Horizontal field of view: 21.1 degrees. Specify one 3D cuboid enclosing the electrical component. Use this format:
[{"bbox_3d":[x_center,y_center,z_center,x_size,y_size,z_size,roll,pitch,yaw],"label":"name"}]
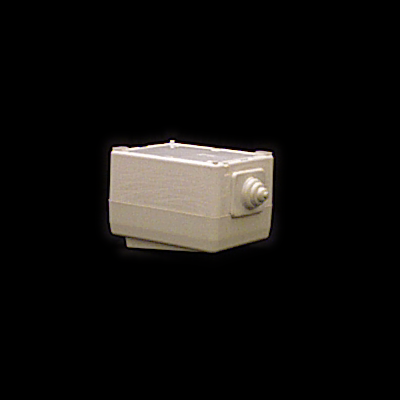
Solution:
[{"bbox_3d":[0.000,0.000,0.642,0.096,0.061,0.061,10,13,35],"label":"electrical component"}]
